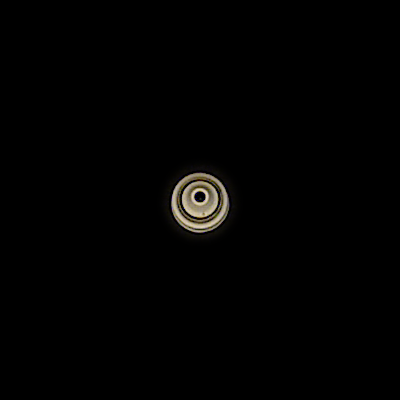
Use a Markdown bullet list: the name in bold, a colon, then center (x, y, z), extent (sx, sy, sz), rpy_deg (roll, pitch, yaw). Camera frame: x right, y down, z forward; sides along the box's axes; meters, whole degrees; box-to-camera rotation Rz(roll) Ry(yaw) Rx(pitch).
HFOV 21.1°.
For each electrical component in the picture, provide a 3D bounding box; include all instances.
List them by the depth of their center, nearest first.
- **electrical component**: center (0.000, 0.000, 0.638), extent (0.035, 0.035, 0.061), rpy_deg (0, -4, 0)
